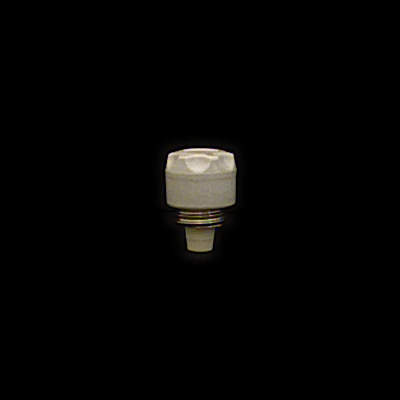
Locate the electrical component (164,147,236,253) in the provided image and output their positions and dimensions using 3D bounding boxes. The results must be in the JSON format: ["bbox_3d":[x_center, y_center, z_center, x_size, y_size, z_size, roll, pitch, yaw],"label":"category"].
[{"bbox_3d":[0.000,0.000,0.651,0.043,0.062,0.043,1,11,0],"label":"electrical component"}]
